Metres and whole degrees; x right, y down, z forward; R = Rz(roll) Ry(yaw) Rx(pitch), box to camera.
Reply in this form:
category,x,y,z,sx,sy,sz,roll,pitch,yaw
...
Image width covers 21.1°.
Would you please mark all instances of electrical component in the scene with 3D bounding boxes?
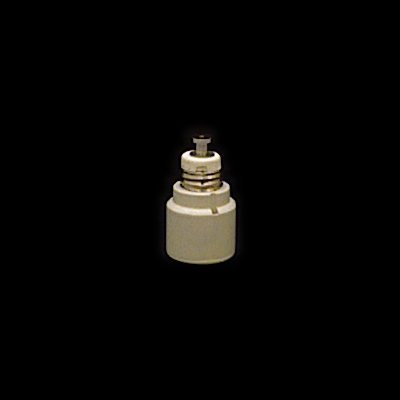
category,x,y,z,sx,sy,sz,roll,pitch,yaw
electrical component,0.000,0.000,0.634,0.040,0.079,0.039,0,20,0
